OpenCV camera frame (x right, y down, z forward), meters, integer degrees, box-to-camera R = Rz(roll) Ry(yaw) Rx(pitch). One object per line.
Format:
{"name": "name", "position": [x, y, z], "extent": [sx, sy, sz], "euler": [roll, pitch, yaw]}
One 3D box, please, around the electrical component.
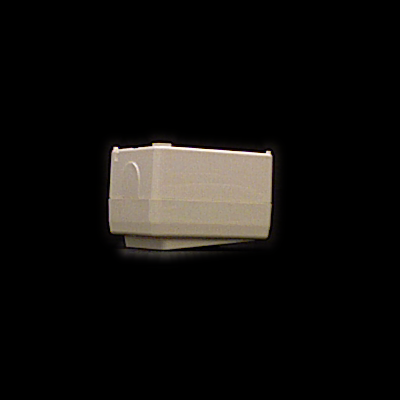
{"name": "electrical component", "position": [0.000, 0.000, 0.648], "extent": [0.096, 0.061, 0.061], "euler": [2, 0, -31]}
